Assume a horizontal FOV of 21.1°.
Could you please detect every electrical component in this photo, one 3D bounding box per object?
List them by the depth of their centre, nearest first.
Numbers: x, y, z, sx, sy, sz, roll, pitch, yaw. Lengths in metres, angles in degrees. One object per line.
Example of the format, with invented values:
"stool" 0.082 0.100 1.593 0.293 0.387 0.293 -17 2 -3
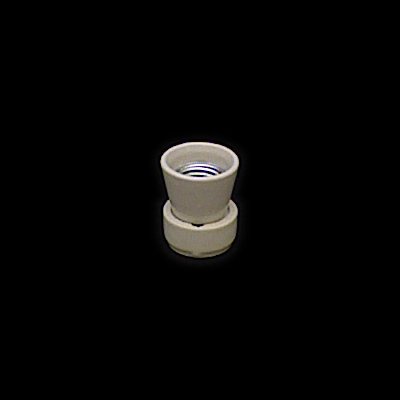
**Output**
"electrical component" 0.000 0.000 0.634 0.045 0.056 0.044 0 31 0
